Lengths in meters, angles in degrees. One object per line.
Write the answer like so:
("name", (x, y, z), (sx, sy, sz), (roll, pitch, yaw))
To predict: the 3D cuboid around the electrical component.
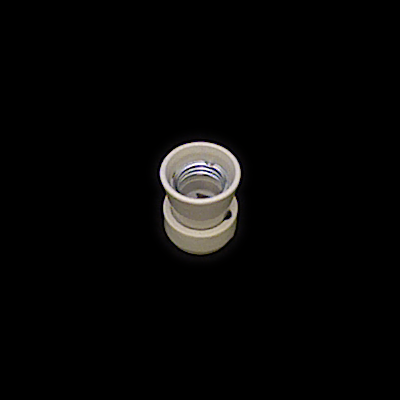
("electrical component", (0.000, 0.000, 0.628), (0.045, 0.044, 0.055), (0, -37, 0))
